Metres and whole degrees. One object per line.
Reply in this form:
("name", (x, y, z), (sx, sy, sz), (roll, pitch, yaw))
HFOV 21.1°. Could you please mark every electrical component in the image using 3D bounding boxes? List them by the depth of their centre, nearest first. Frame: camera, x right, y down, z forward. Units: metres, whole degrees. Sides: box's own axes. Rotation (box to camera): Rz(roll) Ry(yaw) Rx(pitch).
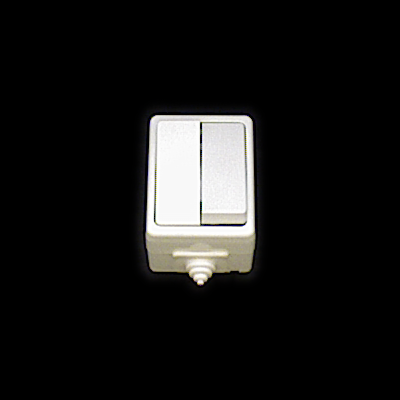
("electrical component", (0.000, 0.000, 0.625), (0.062, 0.096, 0.060), (1, -28, 0))
